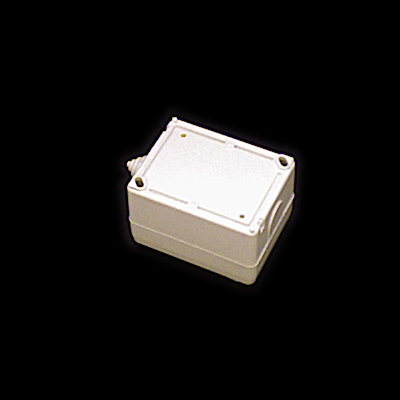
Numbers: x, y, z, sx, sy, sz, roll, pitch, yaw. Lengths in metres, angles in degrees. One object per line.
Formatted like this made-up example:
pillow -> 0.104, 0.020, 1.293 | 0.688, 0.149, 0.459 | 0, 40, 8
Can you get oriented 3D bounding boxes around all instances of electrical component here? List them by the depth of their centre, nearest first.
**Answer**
electrical component -> 0.000, 0.000, 0.631 | 0.096, 0.061, 0.061 | 20, -35, 16
